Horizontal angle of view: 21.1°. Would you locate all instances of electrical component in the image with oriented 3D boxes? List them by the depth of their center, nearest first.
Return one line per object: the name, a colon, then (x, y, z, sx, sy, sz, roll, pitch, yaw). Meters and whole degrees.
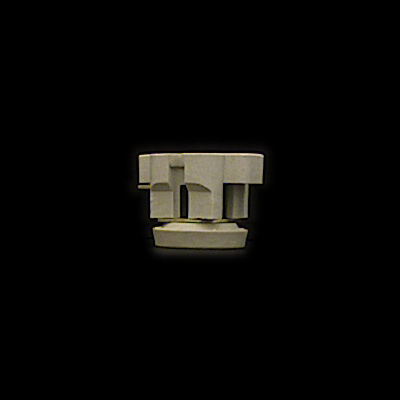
electrical component: (0.000, 0.000, 0.656, 0.078, 0.057, 0.058, 0, 1, 30)
